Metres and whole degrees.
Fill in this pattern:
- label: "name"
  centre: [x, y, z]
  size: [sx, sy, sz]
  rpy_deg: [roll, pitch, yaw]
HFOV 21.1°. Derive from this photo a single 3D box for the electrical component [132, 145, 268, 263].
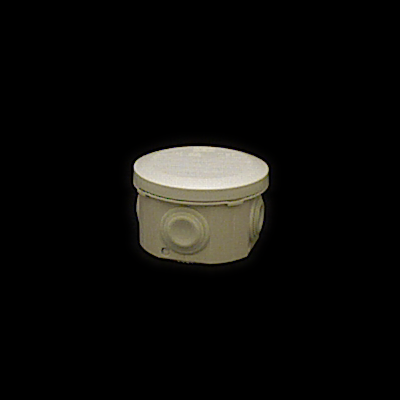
- label: "electrical component"
  centre: [0.000, 0.000, 0.641]
  size: [0.080, 0.051, 0.079]
  rpy_deg: [1, 21, 0]
